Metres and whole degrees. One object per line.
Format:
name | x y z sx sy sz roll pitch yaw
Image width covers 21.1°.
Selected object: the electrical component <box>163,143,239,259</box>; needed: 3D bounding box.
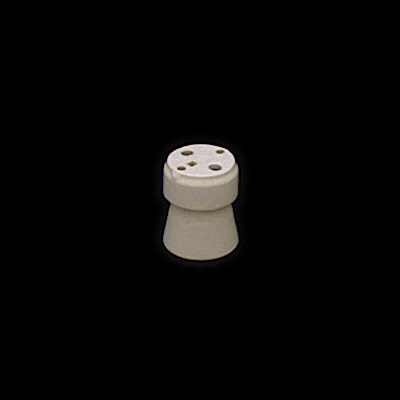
electrical component | 0.000 0.000 0.636 0.045 0.056 0.044 1 31 0
